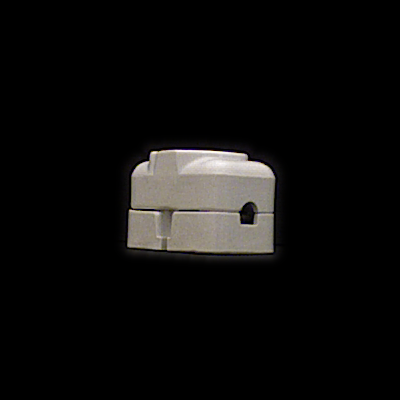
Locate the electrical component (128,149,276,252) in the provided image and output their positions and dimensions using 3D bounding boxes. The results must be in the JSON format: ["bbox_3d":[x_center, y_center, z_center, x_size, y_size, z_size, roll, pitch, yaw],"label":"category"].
[{"bbox_3d":[0.000,0.000,0.655,0.054,0.059,0.094,1,1,-39],"label":"electrical component"}]
